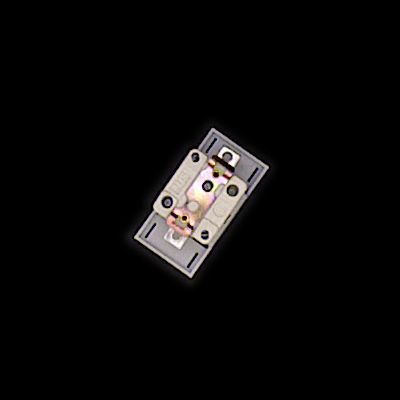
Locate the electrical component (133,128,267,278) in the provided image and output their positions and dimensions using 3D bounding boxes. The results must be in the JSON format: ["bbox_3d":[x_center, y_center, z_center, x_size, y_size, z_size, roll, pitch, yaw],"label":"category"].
[{"bbox_3d":[0.000,0.000,0.626,0.042,0.081,0.063,34,-5,4],"label":"electrical component"}]
